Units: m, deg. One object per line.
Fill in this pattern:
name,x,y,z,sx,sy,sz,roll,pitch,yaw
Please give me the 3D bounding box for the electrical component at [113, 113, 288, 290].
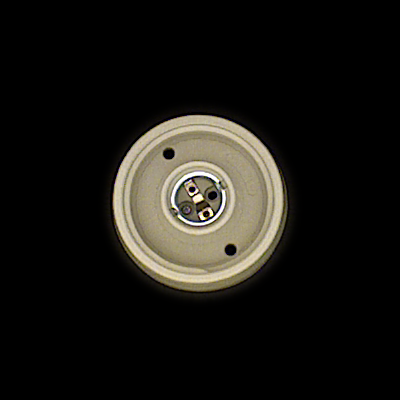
electrical component,0.000,0.000,0.635,0.108,0.108,0.060,0,-6,0
